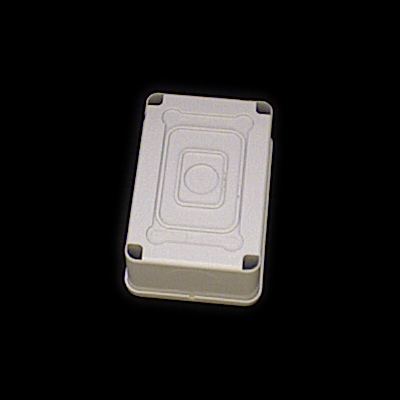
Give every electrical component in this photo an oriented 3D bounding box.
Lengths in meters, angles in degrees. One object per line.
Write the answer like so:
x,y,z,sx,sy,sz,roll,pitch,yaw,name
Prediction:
0.000,0.000,0.628,0.078,0.113,0.057,5,-26,2,electrical component
